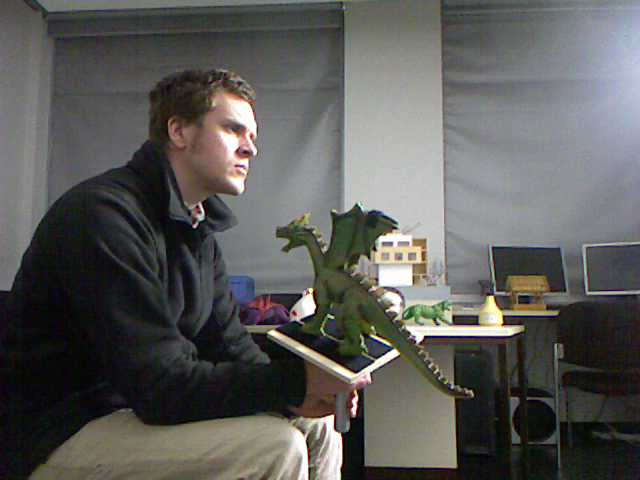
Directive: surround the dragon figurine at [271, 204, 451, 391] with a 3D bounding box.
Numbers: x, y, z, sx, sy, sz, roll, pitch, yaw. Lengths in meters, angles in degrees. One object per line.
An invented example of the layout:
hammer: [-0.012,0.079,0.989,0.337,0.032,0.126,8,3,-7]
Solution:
dragon figurine: [0.063,0.062,0.878,0.123,0.239,0.414,-18,29,-42]
